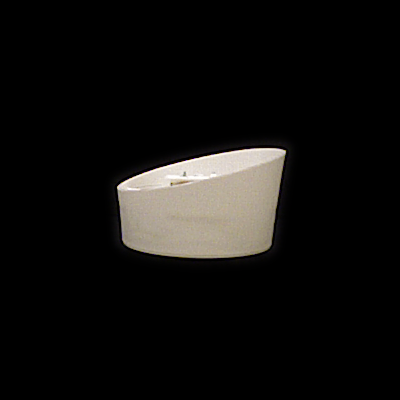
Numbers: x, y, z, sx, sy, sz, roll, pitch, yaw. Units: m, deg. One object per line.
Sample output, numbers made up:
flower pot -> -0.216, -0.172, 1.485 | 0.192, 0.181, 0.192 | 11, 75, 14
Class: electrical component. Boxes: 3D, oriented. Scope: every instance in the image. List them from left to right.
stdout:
electrical component -> 0.000, 0.000, 0.644 | 0.099, 0.064, 0.098 | 2, 10, 0
